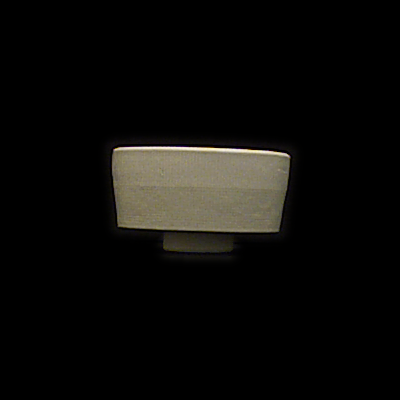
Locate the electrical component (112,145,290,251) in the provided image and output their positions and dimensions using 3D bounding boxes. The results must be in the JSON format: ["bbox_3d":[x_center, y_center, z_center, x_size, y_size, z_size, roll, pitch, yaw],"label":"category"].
[{"bbox_3d":[0.000,0.000,0.653,0.108,0.060,0.108,2,1,1],"label":"electrical component"}]
